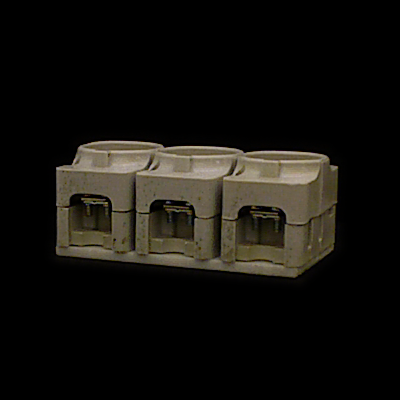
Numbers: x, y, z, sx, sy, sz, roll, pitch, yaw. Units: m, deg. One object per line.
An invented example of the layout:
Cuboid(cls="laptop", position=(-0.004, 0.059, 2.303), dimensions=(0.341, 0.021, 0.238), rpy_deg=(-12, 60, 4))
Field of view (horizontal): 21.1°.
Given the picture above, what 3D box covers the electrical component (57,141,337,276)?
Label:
Cuboid(cls="electrical component", position=(0.000, 0.000, 0.649), dimensions=(0.150, 0.062, 0.088), rpy_deg=(4, 11, 19))
